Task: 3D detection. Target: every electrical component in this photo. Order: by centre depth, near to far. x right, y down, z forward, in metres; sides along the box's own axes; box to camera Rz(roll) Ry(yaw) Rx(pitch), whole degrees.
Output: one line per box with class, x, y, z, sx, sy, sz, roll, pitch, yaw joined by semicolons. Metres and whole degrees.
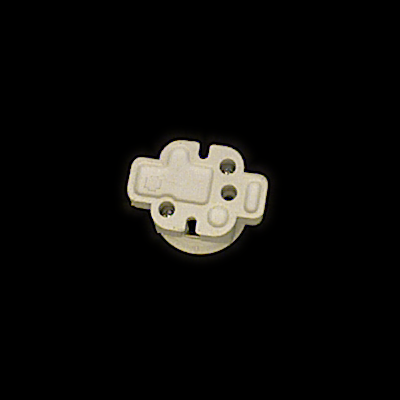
electrical component;0.000;0.000;0.635;0.078;0.058;0.056;7;-15;4
